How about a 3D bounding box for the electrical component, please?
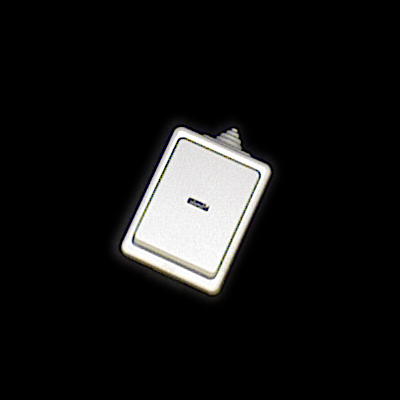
[{"bbox_3d":[0.000,0.000,0.627,0.062,0.096,0.061,24,-6,3],"label":"electrical component"}]
